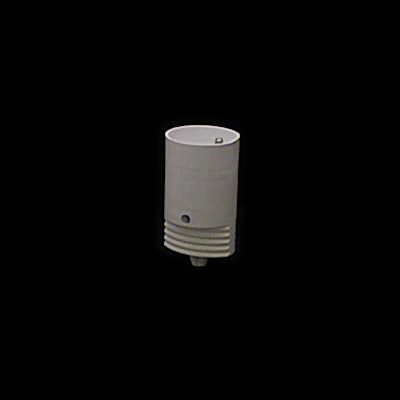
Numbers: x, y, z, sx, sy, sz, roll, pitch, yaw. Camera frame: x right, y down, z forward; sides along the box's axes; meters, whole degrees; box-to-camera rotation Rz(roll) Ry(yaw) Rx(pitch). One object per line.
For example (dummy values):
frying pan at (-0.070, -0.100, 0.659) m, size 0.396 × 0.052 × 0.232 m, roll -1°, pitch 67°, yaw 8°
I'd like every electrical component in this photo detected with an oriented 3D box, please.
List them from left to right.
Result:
electrical component at (0.000, 0.000, 0.636) m, size 0.043 × 0.082 × 0.042 m, roll 1°, pitch 22°, yaw 0°
